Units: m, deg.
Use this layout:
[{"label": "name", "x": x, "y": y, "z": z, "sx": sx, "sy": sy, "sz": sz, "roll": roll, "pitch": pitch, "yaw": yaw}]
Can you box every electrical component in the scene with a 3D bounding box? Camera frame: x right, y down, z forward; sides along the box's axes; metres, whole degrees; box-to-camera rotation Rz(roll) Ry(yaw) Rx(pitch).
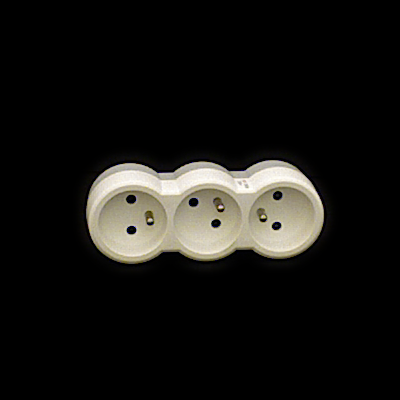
[{"label": "electrical component", "x": 0.000, "y": 0.000, "z": 0.650, "sx": 0.138, "sy": 0.053, "sz": 0.072, "roll": -2, "pitch": 20, "yaw": -7}]
